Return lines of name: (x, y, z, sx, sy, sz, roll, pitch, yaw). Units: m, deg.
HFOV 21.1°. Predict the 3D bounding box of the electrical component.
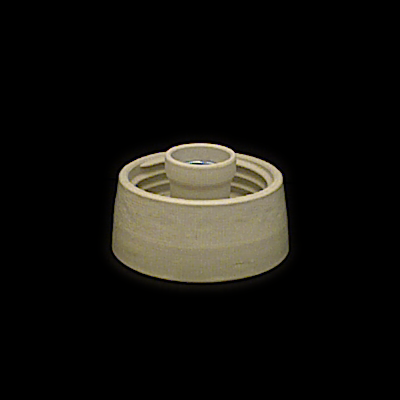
electrical component: (0.000, 0.000, 0.647, 0.108, 0.061, 0.106, 1, 21, 0)
